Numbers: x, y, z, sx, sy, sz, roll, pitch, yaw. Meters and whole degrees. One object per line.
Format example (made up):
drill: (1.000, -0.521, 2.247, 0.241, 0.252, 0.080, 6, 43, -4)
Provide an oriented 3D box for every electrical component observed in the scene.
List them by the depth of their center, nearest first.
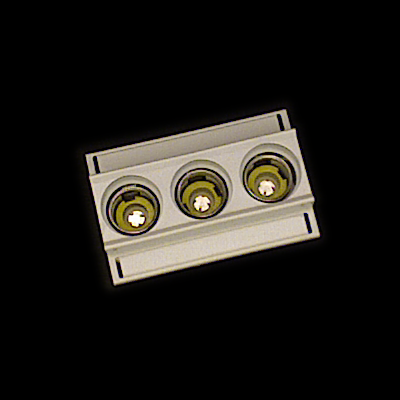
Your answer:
electrical component: (0.000, 0.000, 0.637, 0.121, 0.079, 0.063, -13, -14, -3)
